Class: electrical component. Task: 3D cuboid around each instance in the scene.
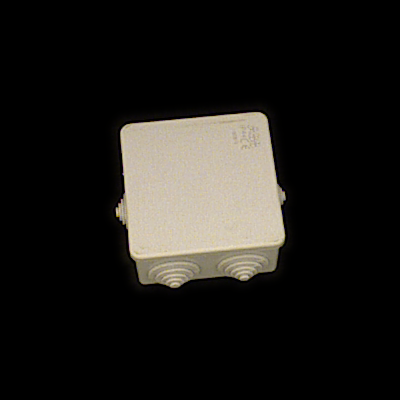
[{"bbox_3d":[0.000,0.000,0.641,0.100,0.099,0.048,-5,-27,-3],"label":"electrical component"}]
